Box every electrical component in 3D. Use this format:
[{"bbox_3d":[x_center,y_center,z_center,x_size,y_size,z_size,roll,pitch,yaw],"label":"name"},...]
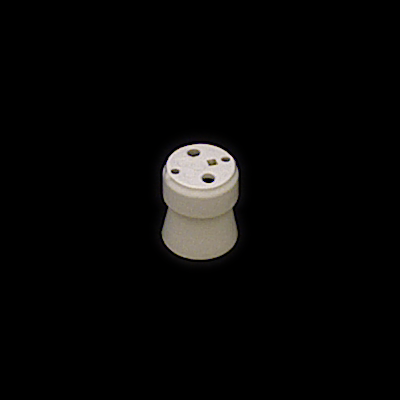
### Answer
[{"bbox_3d":[0.000,0.000,0.631,0.045,0.055,0.044,0,43,0],"label":"electrical component"}]
